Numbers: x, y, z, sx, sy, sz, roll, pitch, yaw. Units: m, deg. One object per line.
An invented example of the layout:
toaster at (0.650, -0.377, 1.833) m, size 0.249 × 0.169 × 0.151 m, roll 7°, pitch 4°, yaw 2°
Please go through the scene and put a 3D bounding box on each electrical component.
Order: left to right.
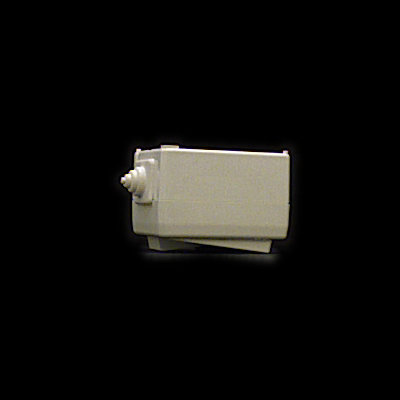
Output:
electrical component at (-0.001, 0.000, 0.645) m, size 0.096 × 0.061 × 0.061 m, roll 2°, pitch 1°, yaw -20°
